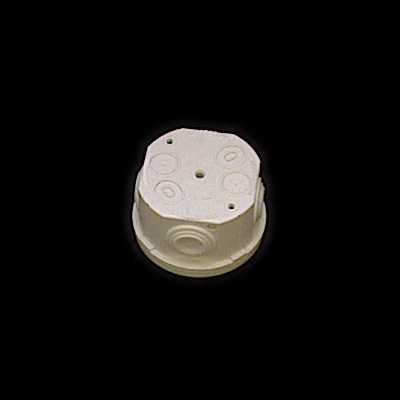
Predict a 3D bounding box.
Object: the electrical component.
[{"bbox_3d":[0.000,0.000,0.632,0.080,0.080,0.051,0,-37,-1],"label":"electrical component"}]
